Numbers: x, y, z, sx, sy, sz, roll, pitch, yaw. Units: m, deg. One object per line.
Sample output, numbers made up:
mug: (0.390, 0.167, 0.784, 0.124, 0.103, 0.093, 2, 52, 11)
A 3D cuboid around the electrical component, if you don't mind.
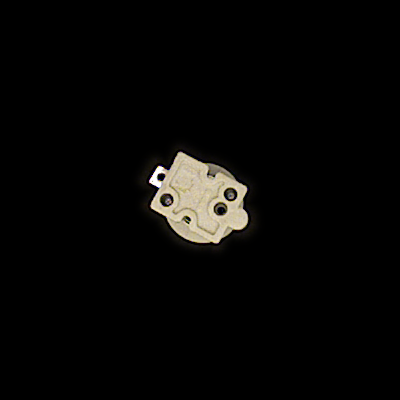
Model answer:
electrical component: (0.000, 0.000, 0.639, 0.066, 0.048, 0.055, 29, -3, 4)
